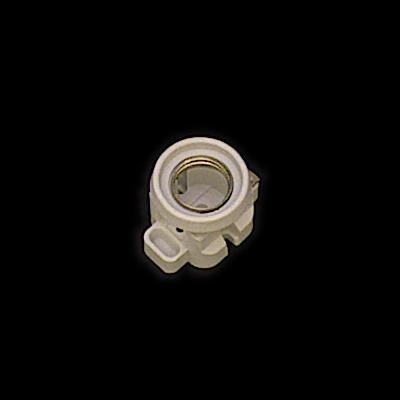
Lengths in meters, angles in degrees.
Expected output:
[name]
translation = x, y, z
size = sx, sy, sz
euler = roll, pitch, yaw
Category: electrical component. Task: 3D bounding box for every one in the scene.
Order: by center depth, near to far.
[electrical component]
translation = 0.000, 0.000, 0.629
size = 0.079, 0.057, 0.057
euler = -41, -20, -19
